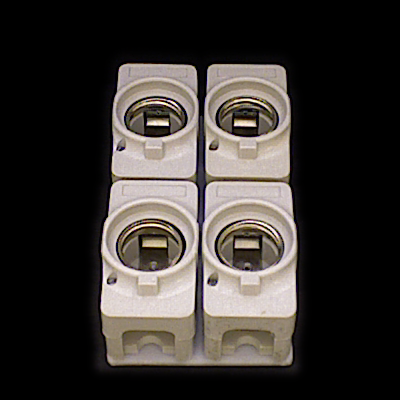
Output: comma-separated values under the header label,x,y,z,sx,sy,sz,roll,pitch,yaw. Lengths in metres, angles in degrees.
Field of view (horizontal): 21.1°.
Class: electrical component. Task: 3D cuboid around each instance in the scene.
label,x,y,z,sx,sy,sz,roll,pitch,yaw
electrical component,0.000,0.000,0.627,0.105,0.185,0.060,1,-37,0
